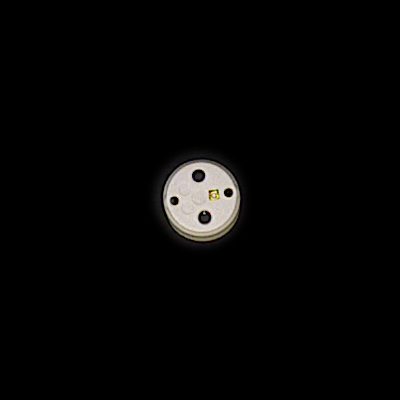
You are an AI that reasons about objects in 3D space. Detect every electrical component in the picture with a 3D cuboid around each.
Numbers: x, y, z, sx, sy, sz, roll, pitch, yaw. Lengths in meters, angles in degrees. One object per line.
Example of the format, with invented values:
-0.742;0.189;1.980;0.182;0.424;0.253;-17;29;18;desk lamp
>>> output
0.000;0.000;0.629;0.045;0.045;0.055;0;-6;1;electrical component
